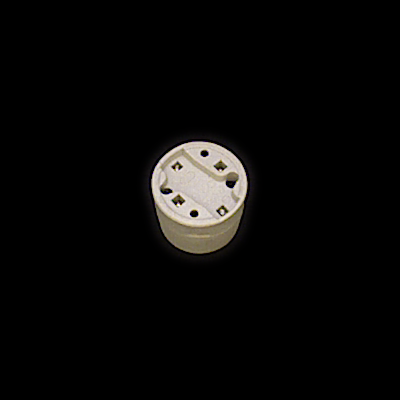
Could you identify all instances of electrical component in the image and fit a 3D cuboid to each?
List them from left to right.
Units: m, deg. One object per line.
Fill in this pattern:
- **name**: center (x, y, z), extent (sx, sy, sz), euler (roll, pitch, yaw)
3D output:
- **electrical component**: center (0.000, 0.000, 0.634), extent (0.055, 0.056, 0.047), euler (0, -27, 0)
